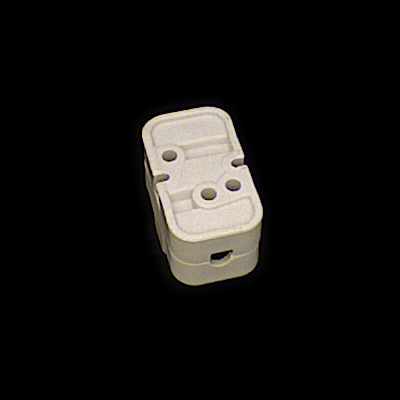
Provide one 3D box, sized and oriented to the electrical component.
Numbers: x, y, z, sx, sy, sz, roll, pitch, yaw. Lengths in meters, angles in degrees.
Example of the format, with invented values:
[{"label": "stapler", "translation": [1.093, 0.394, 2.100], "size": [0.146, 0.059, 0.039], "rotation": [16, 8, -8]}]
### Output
[{"label": "electrical component", "translation": [0.000, 0.000, 0.637], "size": [0.054, 0.094, 0.059], "rotation": [-11, -37, -9]}]
